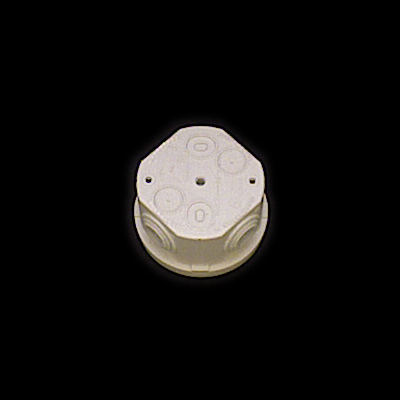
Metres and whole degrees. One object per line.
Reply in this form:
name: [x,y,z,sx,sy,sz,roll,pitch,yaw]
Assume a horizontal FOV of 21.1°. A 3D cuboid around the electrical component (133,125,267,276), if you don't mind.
electrical component: [0.000,0.000,0.631,0.080,0.080,0.050,0,-27,1]
